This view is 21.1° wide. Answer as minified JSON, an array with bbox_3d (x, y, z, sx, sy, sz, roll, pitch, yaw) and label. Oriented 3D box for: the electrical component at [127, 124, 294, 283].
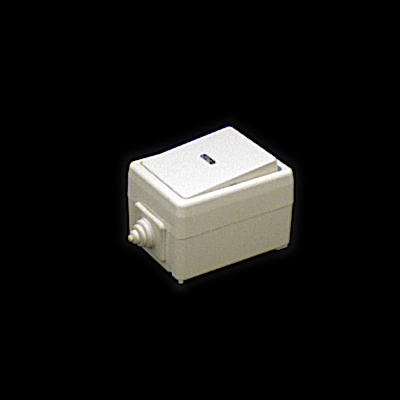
[{"bbox_3d":[0.000,0.000,0.633,0.096,0.061,0.061,-18,36,-28],"label":"electrical component"}]
